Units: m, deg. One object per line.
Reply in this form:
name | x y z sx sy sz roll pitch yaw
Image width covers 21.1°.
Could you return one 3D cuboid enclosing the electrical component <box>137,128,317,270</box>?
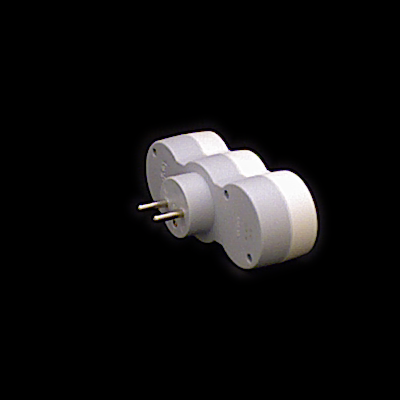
electrical component | 0.000 0.000 0.638 0.073 0.053 0.137 -13 26 -28
